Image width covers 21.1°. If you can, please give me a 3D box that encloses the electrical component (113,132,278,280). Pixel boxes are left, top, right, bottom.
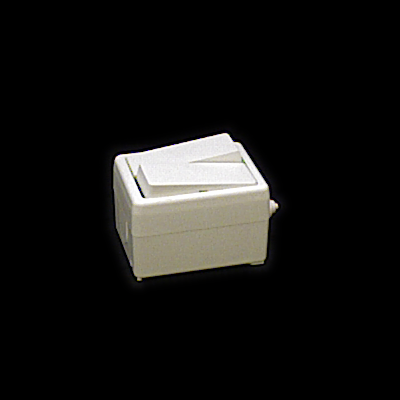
[{"bbox_3d":[0.000,0.000,0.635,0.096,0.061,0.061,-7,32,-13],"label":"electrical component"}]
